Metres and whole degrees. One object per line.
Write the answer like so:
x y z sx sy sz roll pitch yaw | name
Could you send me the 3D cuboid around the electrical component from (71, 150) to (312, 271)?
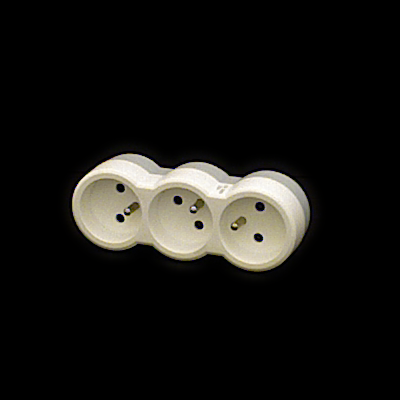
0.000 0.000 0.650 0.137 0.053 0.073 8 21 16 | electrical component
